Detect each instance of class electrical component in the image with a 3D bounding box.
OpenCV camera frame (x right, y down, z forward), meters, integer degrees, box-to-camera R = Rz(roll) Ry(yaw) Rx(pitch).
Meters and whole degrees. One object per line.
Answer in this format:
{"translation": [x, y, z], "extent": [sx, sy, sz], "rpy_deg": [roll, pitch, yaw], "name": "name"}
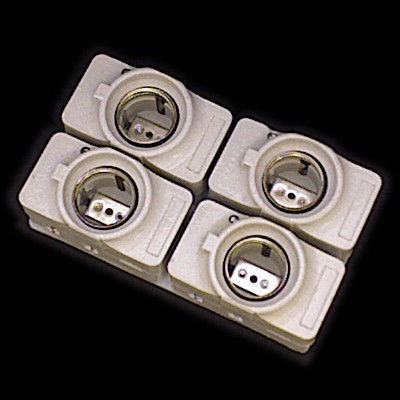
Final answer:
{"translation": [0.000, 0.000, 0.625], "extent": [0.186, 0.106, 0.060], "rpy_deg": [24, -15, 8], "name": "electrical component"}
